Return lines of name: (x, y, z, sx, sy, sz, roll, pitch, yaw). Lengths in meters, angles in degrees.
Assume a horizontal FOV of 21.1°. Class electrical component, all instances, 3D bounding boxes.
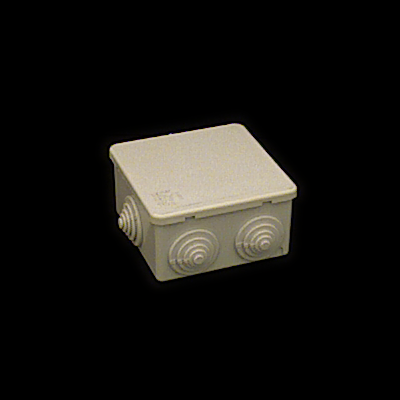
electrical component: (0.000, 0.000, 0.643, 0.100, 0.049, 0.098, -11, 34, -18)
